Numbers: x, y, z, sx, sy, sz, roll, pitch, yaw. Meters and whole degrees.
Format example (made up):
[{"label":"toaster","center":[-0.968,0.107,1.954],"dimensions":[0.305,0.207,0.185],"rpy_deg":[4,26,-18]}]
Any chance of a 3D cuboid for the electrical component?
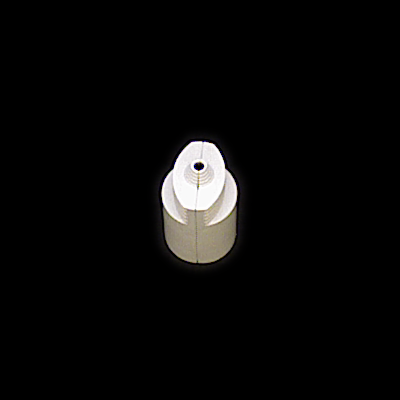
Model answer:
[{"label":"electrical component","center":[0.000,0.000,0.618],"dimensions":[0.043,0.043,0.081],"rpy_deg":[0,-28,0]}]
